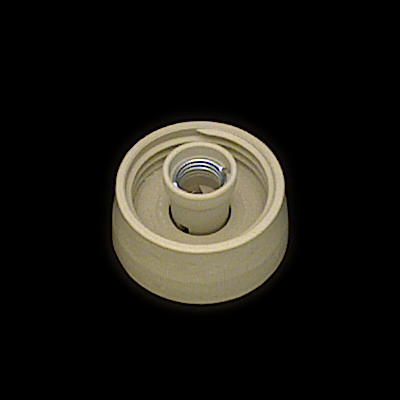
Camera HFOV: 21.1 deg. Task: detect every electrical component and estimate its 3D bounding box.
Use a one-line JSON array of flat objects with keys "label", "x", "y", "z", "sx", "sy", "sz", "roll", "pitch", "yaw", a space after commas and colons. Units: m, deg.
[{"label": "electrical component", "x": 0.000, "y": 0.000, "z": 0.636, "sx": 0.108, "sy": 0.107, "sz": 0.060, "roll": 0, "pitch": -37, "yaw": 0}]
